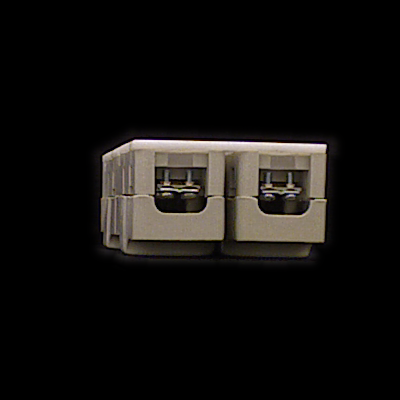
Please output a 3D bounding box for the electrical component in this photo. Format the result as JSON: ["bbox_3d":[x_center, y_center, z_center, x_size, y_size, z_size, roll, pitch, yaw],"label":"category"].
[{"bbox_3d":[0.000,0.000,0.650,0.106,0.060,0.186,1,0,-10],"label":"electrical component"}]
